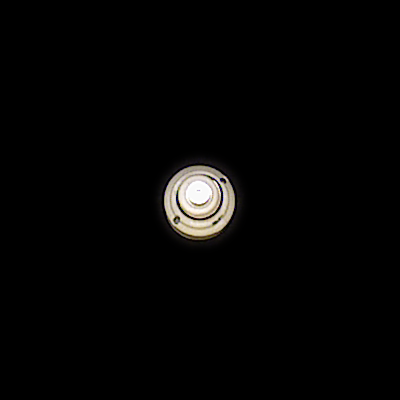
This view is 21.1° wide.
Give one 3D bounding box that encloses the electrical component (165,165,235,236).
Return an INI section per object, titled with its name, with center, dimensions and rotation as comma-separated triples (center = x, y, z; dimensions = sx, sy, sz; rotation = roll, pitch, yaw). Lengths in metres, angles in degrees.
[electrical component]
center = 0.000, 0.000, 0.618
dimensions = 0.040, 0.040, 0.078
rotation = 0, -7, 0
